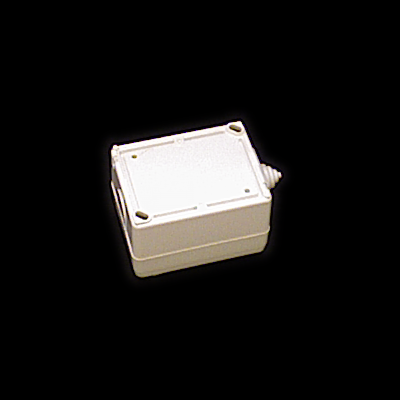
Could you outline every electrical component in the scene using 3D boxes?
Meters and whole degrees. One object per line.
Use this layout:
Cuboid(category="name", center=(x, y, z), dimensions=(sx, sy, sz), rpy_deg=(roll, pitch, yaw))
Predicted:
Cuboid(category="electrical component", center=(0.000, 0.000, 0.628), dimensions=(0.096, 0.061, 0.061), rpy_deg=(-12, -37, -10))
